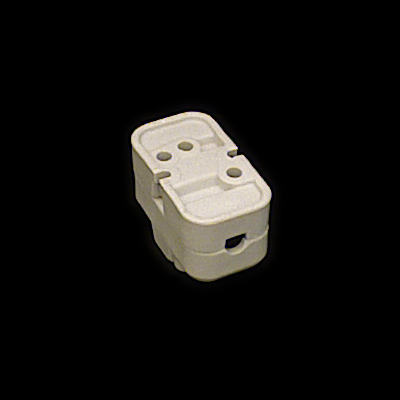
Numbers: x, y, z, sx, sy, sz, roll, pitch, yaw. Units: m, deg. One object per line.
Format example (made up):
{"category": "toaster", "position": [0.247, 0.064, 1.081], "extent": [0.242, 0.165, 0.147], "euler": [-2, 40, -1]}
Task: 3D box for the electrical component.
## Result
{"category": "electrical component", "position": [0.000, 0.000, 0.636], "extent": [0.054, 0.060, 0.094], "euler": [-19, 47, -20]}
